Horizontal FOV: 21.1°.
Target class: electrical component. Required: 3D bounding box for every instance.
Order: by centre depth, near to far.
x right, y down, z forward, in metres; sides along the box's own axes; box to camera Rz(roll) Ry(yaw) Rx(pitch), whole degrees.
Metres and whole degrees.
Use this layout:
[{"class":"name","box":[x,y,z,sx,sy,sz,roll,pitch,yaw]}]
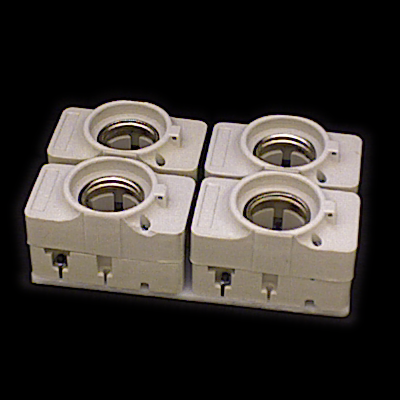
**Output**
[{"class":"electrical component","box":[0.000,0.000,0.631,0.186,0.061,0.104,6,42,5]}]
